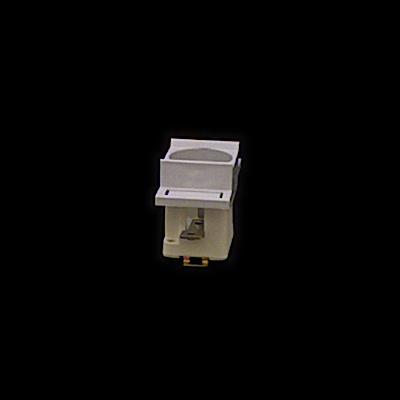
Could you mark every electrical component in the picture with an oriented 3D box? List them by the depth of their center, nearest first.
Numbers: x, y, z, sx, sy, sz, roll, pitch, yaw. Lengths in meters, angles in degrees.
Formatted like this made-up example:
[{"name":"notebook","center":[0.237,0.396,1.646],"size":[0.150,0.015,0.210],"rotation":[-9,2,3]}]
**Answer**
[{"name":"electrical component","center":[0.000,0.000,0.635],"size":[0.042,0.064,0.080],"rotation":[4,21,6]}]
